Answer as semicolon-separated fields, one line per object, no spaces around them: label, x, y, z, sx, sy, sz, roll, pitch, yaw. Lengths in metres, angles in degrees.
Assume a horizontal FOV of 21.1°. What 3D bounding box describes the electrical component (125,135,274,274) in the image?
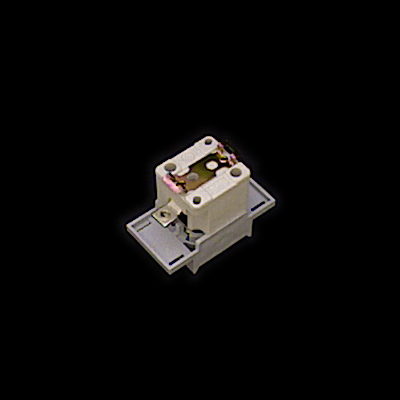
electrical component;0.000;0.000;0.628;0.081;0.064;0.042;-33;59;-23
